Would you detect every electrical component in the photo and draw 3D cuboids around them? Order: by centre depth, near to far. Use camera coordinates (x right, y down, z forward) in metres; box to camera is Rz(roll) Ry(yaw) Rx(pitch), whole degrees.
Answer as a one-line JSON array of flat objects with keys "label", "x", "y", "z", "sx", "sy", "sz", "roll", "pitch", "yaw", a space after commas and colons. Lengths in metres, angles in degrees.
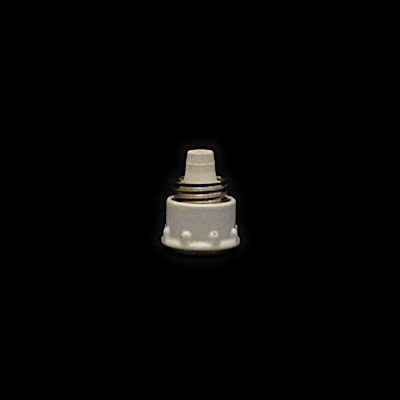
[{"label": "electrical component", "x": 0.000, "y": 0.000, "z": 0.650, "sx": 0.048, "sy": 0.062, "sz": 0.048, "roll": 0, "pitch": 11, "yaw": 1}]
